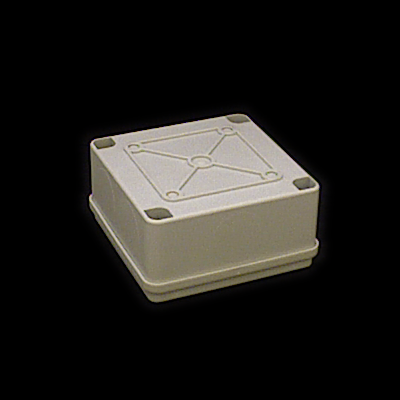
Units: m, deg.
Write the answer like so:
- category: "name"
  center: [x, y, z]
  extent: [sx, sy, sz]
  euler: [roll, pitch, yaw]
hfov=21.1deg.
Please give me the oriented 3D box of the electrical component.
- category: "electrical component"
  center: [0.000, 0.000, 0.637]
  extent: [0.109, 0.057, 0.107]
  euler: [-12, 33, -21]
